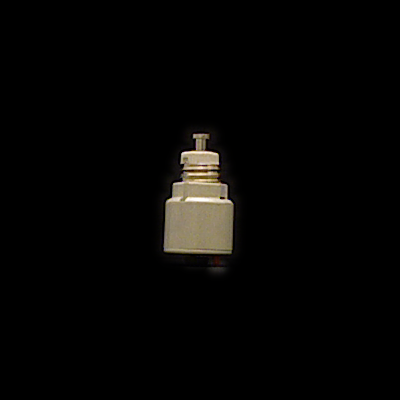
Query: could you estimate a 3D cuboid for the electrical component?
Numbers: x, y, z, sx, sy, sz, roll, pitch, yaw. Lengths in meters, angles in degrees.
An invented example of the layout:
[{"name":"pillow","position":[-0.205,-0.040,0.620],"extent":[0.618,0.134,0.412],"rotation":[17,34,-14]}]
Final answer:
[{"name":"electrical component","position":[0.000,0.000,0.648],"extent":[0.040,0.078,0.040],"rotation":[1,0,0]}]
